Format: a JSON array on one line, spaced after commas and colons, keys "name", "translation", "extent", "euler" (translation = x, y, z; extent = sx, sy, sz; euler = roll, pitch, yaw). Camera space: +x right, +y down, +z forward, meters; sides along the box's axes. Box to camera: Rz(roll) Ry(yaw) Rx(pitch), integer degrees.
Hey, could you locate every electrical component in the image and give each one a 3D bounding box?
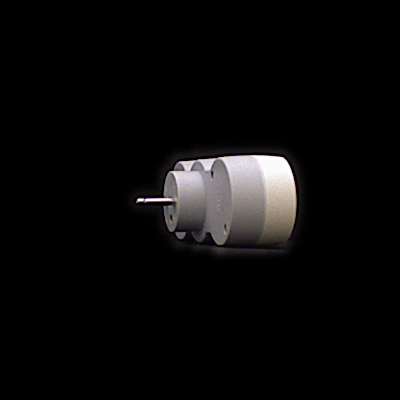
[{"name": "electrical component", "translation": [0.000, 0.000, 0.647], "extent": [0.074, 0.052, 0.138], "euler": [-1, 1, -16]}]
